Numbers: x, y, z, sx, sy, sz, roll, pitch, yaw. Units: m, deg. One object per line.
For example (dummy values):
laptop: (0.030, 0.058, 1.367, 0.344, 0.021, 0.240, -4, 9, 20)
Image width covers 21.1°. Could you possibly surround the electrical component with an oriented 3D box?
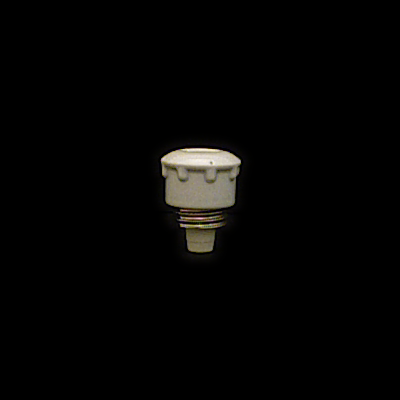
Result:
electrical component: (0.000, 0.000, 0.649, 0.048, 0.062, 0.048, 1, 11, 0)
